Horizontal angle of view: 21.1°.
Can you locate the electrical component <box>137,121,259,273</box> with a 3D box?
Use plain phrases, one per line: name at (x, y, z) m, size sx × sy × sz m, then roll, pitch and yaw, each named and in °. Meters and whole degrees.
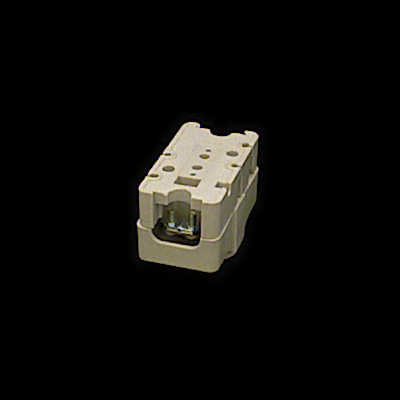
electrical component at (0.000, 0.000, 0.643) m, size 0.050 × 0.056 × 0.089 m, roll 11°, pitch 34°, yaw 14°
